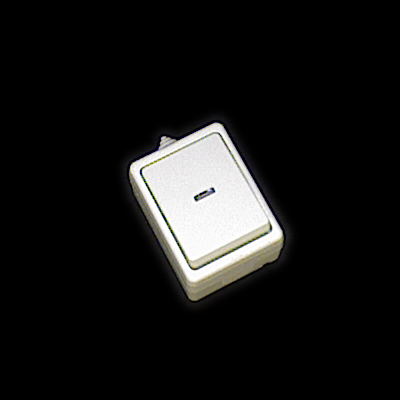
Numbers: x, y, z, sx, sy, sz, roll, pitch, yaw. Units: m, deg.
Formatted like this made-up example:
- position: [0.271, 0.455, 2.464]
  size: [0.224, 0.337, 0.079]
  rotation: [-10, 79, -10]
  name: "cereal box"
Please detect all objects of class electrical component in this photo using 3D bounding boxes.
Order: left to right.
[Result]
- position: [0.000, 0.000, 0.626]
  size: [0.062, 0.096, 0.060]
  rotation: [-27, -15, -8]
  name: "electrical component"
